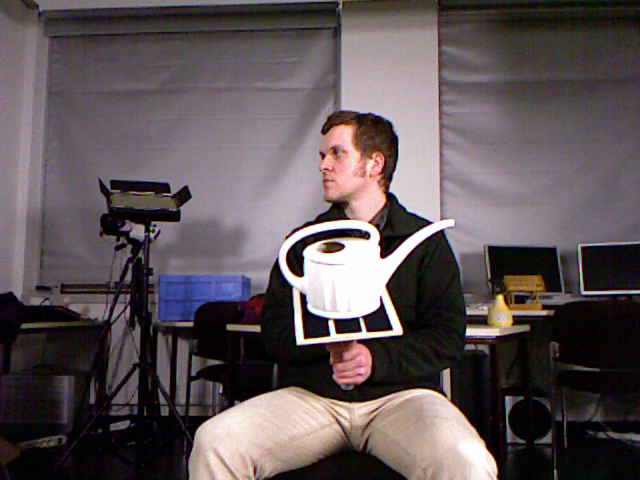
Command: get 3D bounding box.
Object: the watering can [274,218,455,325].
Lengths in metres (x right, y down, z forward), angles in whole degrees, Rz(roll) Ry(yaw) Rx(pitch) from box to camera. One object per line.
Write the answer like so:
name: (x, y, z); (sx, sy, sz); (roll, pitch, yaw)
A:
watering can: (0.087, 0.057, 1.013); (0.348, 0.220, 0.106); (-4, 29, -1)
